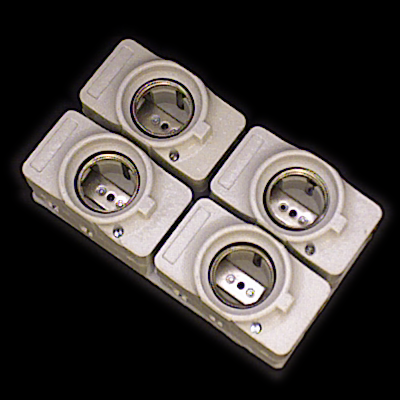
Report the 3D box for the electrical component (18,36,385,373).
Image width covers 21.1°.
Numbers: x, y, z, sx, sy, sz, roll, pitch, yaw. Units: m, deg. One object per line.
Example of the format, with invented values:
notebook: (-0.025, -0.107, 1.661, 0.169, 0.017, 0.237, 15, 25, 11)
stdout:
electrical component: (0.000, 0.000, 0.626, 0.186, 0.106, 0.060, 34, -14, 10)
